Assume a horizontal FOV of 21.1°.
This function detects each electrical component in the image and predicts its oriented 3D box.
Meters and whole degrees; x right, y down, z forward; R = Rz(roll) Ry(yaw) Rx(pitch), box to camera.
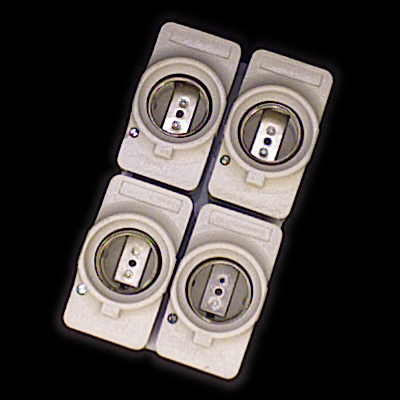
[{"bbox_3d":[0.000,0.000,0.626,0.105,0.187,0.060,18,-6,2],"label":"electrical component"}]
